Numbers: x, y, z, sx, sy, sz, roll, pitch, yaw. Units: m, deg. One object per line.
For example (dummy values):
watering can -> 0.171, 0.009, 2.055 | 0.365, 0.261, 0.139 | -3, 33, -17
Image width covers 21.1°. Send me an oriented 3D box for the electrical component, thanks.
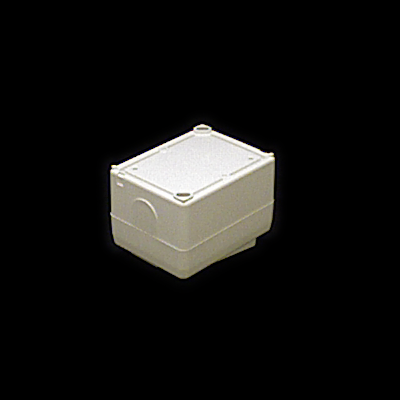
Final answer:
electrical component -> 0.001, 0.000, 0.640 | 0.061, 0.062, 0.095 | 26, 39, 36
